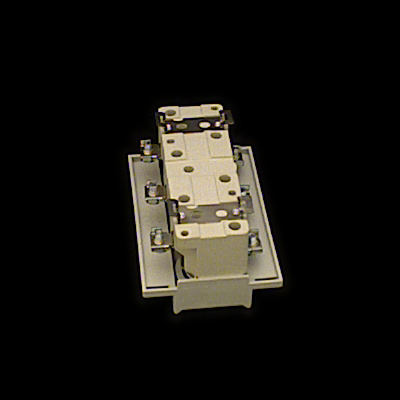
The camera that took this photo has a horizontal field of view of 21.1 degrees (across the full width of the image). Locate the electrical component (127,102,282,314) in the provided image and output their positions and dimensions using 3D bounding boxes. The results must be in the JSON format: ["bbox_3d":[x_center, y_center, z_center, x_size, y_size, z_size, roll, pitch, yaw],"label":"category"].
[{"bbox_3d":[0.000,0.000,0.639,0.079,0.063,0.120,-4,43,-6],"label":"electrical component"}]
